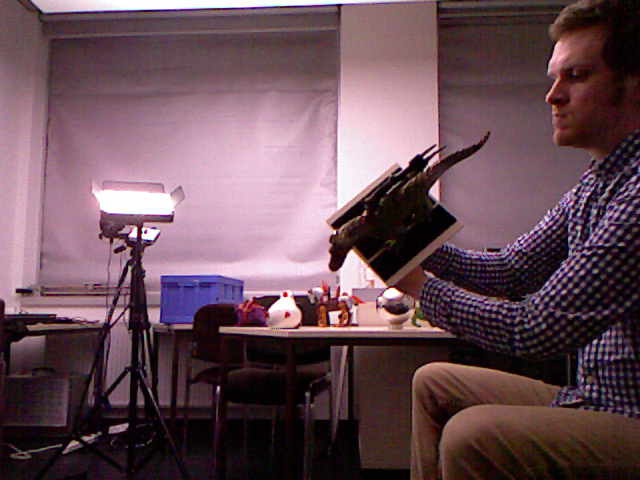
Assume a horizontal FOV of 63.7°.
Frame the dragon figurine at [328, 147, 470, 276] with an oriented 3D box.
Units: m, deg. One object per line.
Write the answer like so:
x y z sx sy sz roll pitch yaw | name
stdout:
0.157 -0.086 0.964 0.123 0.414 0.241 43 -9 12 | dragon figurine
